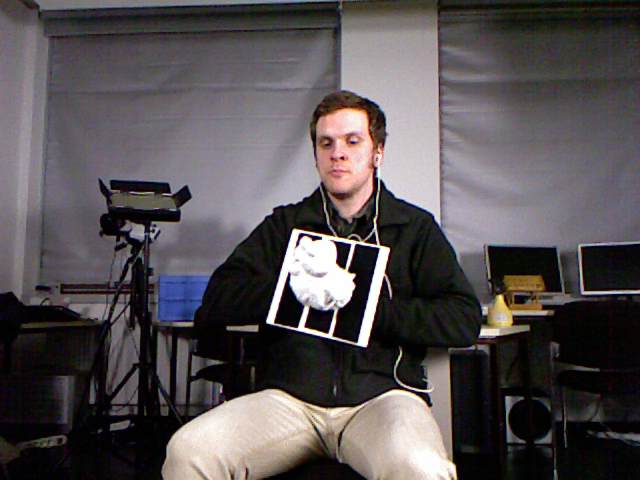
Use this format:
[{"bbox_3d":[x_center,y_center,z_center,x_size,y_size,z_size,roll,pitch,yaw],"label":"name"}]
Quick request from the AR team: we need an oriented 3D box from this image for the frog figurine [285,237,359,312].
[{"bbox_3d":[0.001,0.067,0.949,0.139,0.124,0.158,30,-10,17],"label":"frog figurine"}]
